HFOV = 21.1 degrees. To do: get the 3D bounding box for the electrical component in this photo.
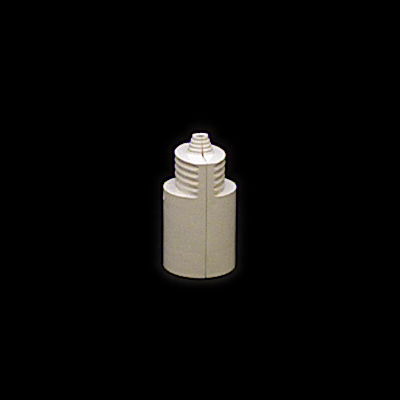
[{"bbox_3d":[0.000,0.000,0.636,0.043,0.082,0.042,1,21,0],"label":"electrical component"}]
